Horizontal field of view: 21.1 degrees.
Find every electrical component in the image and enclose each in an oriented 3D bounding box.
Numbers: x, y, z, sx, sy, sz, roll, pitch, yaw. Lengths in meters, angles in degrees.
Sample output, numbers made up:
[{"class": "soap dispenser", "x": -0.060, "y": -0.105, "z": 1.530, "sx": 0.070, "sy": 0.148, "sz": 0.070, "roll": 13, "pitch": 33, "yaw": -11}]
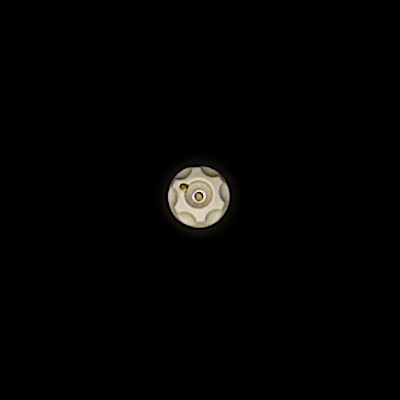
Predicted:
[{"class": "electrical component", "x": 0.000, "y": 0.000, "z": 0.635, "sx": 0.035, "sy": 0.035, "sz": 0.061, "roll": 0, "pitch": -6, "yaw": 1}]
